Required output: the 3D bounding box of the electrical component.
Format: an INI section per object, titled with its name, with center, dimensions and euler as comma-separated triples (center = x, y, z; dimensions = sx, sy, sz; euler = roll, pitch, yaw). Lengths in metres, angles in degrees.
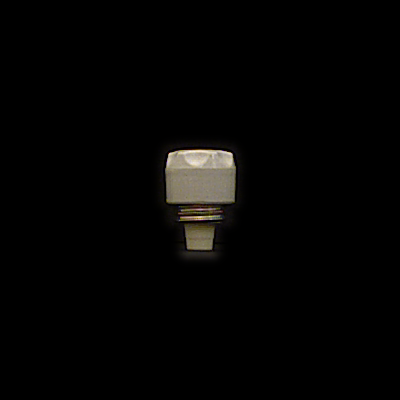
[electrical component]
center = 0.000, 0.000, 0.656
dimensions = 0.043, 0.062, 0.043
euler = 1, 2, 1
